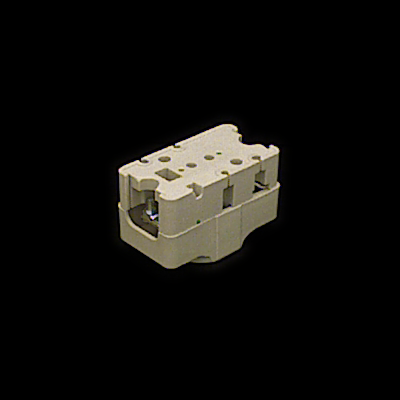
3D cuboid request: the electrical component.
[{"bbox_3d":[0.000,0.000,0.642,0.090,0.056,0.049,-26,42,-35],"label":"electrical component"}]
